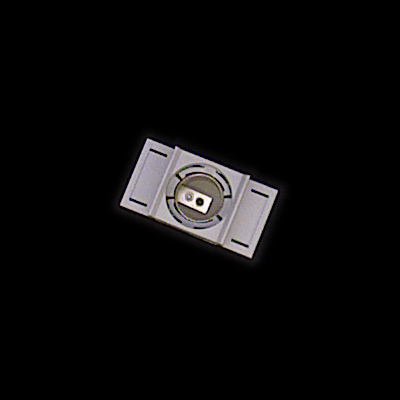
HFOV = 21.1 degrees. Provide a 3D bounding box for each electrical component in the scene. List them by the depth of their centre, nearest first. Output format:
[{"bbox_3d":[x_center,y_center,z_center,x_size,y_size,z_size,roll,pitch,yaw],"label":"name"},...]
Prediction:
[{"bbox_3d":[0.000,0.000,0.625,0.081,0.042,0.063,22,-4,2],"label":"electrical component"}]
